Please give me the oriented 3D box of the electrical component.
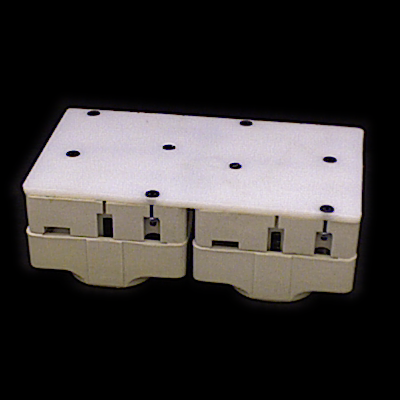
[{"bbox_3d":[0.000,0.000,0.633,0.186,0.061,0.104,5,31,6],"label":"electrical component"}]
